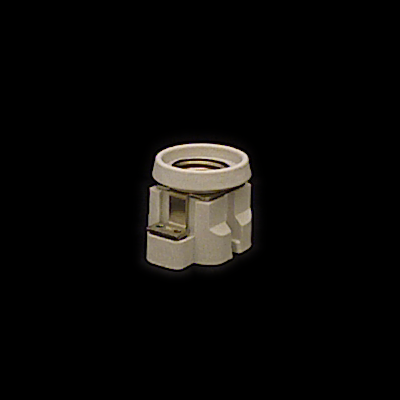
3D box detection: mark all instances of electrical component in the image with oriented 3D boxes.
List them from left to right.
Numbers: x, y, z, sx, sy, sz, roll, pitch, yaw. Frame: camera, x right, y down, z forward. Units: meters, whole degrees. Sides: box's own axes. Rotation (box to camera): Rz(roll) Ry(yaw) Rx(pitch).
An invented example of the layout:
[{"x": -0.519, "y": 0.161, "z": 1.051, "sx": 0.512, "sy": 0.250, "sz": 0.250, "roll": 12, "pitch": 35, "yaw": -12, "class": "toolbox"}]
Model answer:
[{"x": 0.000, "y": 0.000, "z": 0.637, "sx": 0.057, "sy": 0.057, "sz": 0.078, "roll": 15, "pitch": 25, "yaw": 32, "class": "electrical component"}]
